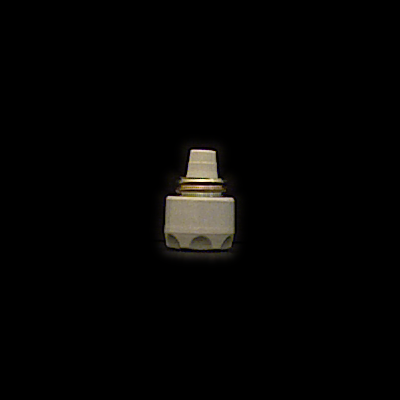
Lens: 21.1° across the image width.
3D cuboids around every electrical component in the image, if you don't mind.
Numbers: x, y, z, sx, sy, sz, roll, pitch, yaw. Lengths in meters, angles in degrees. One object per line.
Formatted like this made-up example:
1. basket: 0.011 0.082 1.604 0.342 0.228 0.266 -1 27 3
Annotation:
1. electrical component: 0.000 0.000 0.656 0.043 0.062 0.043 3 2 0
